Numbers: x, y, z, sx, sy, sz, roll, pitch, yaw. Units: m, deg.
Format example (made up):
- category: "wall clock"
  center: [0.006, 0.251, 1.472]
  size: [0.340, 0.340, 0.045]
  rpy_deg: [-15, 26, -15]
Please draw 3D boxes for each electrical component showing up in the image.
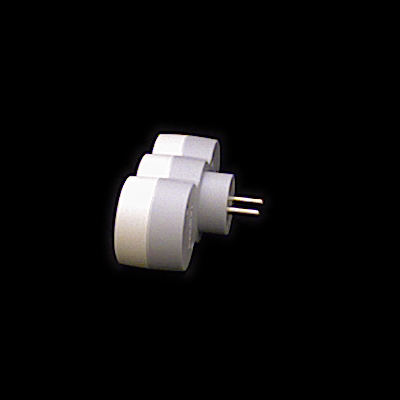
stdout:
- category: "electrical component"
  center: [0.000, 0.000, 0.644]
  size: [0.073, 0.053, 0.137]
  rpy_deg: [6, 20, 8]
